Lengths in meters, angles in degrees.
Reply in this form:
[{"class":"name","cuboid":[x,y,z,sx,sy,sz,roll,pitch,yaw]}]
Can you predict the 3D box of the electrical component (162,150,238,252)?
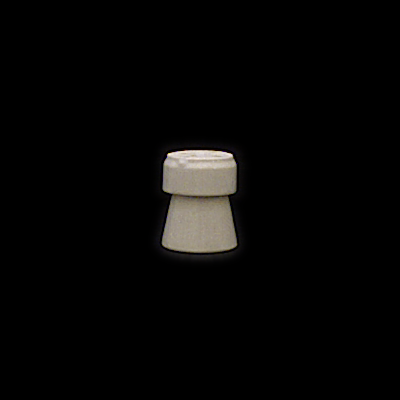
[{"class":"electrical component","cuboid":[0.000,0.000,0.645,0.045,0.055,0.044,1,11,0]}]
